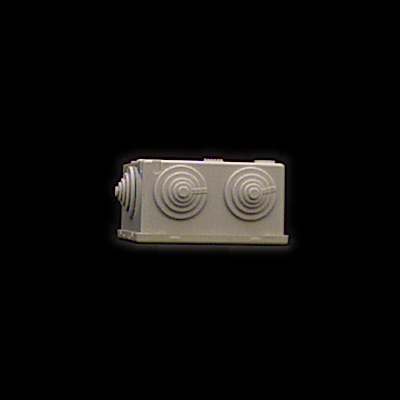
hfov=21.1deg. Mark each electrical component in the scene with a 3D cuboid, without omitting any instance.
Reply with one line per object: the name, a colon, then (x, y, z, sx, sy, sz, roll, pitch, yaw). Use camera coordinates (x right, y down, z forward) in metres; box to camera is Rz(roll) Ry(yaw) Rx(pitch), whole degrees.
electrical component: (0.000, 0.000, 0.648, 0.100, 0.048, 0.099, 1, 0, -13)
